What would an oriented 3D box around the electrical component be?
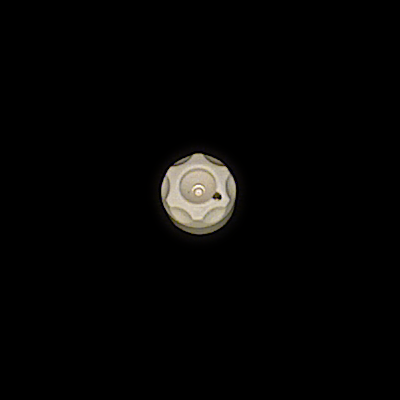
[{"bbox_3d":[0.000,0.000,0.634,0.043,0.043,0.061,0,-16,1],"label":"electrical component"}]
